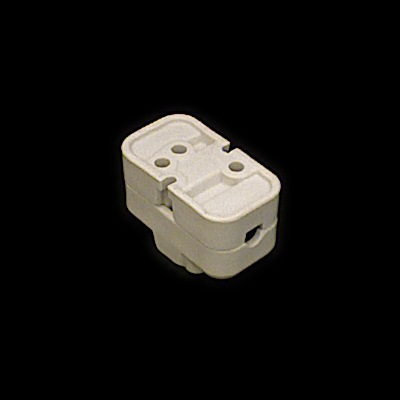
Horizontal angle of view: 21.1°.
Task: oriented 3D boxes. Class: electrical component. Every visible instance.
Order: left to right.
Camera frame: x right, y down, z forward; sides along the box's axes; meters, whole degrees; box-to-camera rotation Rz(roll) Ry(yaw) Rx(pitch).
[{"bbox_3d":[0.000,0.000,0.636,0.054,0.060,0.094,-31,52,-30],"label":"electrical component"}]
